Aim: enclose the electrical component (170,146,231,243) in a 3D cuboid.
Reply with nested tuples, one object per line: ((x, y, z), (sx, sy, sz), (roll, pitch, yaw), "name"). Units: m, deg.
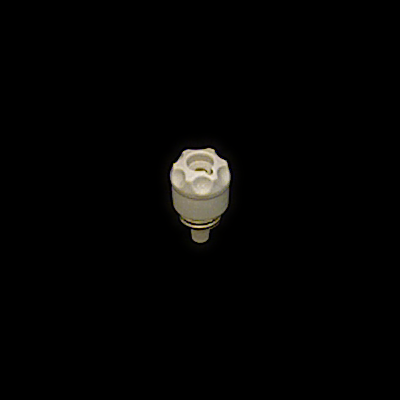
((0.000, 0.000, 0.636), (0.035, 0.062, 0.035), (0, 43, 0), "electrical component")
